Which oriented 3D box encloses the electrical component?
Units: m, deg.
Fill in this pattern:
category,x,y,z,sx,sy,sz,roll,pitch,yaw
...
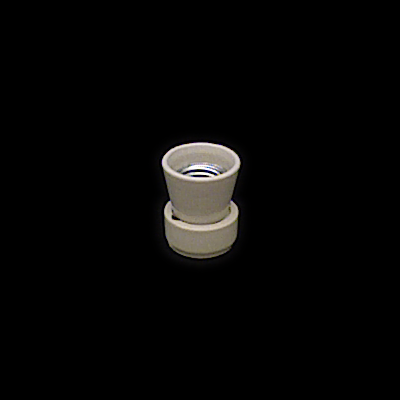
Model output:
category,x,y,z,sx,sy,sz,roll,pitch,yaw
electrical component,0.000,0.000,0.635,0.045,0.056,0.044,1,31,0
